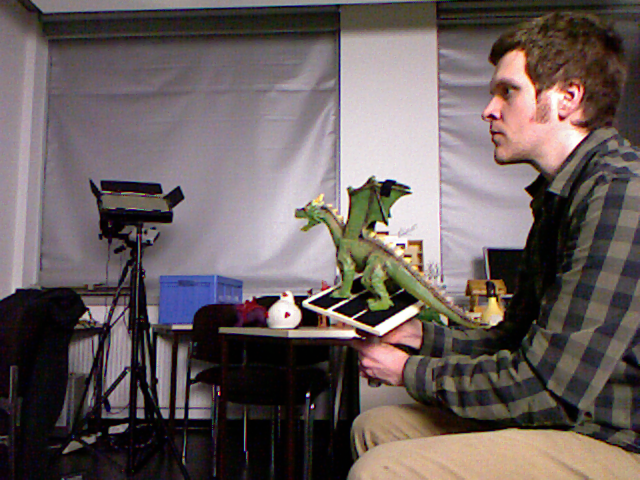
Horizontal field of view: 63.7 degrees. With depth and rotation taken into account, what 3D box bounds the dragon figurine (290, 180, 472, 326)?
[{"bbox_3d":[0.110,0.004,1.012,0.412,0.239,0.124,13,26,35],"label":"dragon figurine"}]
